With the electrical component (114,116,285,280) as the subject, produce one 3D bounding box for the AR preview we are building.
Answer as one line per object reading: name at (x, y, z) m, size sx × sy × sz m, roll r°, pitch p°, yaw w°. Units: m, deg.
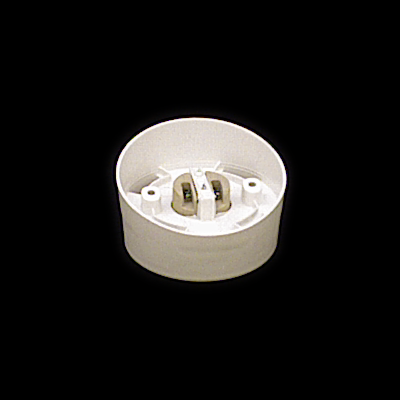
electrical component at (0.000, 0.000, 0.633) m, size 0.099 × 0.065 × 0.097 m, roll 0°, pitch 30°, yaw 0°
